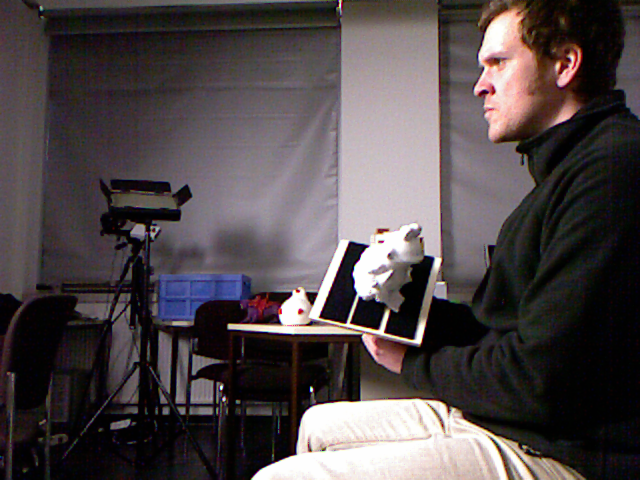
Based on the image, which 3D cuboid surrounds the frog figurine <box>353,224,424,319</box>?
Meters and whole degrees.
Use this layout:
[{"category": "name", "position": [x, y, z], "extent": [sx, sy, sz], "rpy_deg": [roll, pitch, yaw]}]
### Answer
[{"category": "frog figurine", "position": [0.119, 0.038, 0.903], "extent": [0.124, 0.156, 0.140], "rpy_deg": [28, 54, 28]}]
